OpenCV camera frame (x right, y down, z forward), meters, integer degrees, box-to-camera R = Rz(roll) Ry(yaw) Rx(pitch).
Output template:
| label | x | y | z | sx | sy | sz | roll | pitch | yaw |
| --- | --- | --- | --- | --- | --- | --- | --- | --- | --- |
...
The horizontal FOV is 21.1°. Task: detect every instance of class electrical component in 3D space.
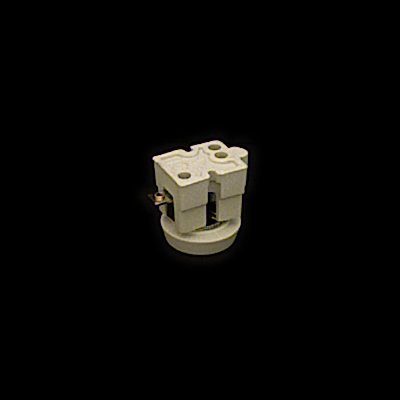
| label | x | y | z | sx | sy | sz | roll | pitch | yaw |
| --- | --- | --- | --- | --- | --- | --- | --- | --- | --- |
| electrical component | 0.000 | 0.000 | 0.644 | 0.067 | 0.056 | 0.047 | -16 | 37 | -23 |
